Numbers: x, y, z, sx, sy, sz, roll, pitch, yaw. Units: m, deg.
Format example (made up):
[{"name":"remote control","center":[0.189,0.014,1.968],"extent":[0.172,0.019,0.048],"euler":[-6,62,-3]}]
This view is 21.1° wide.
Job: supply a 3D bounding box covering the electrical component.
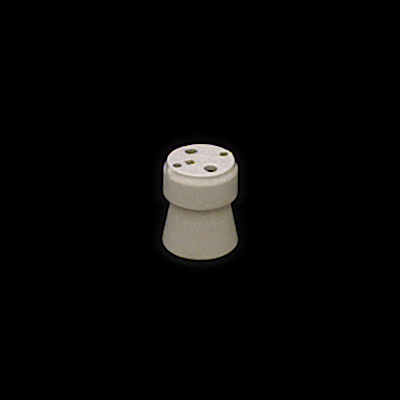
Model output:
[{"name":"electrical component","center":[0.000,0.000,0.636],"extent":[0.045,0.056,0.044],"euler":[1,31,0]}]
